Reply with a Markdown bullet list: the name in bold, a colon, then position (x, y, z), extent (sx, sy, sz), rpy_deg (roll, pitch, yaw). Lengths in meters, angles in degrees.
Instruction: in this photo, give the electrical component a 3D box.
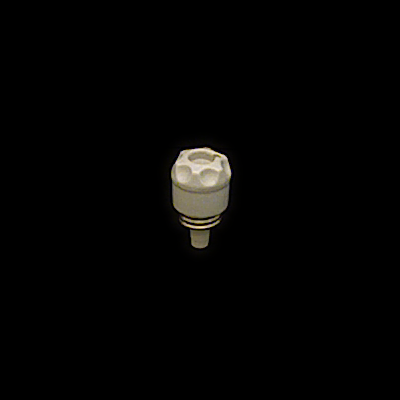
- **electrical component**: position (0.000, 0.000, 0.641), extent (0.035, 0.062, 0.034), rpy_deg (1, 33, 0)
